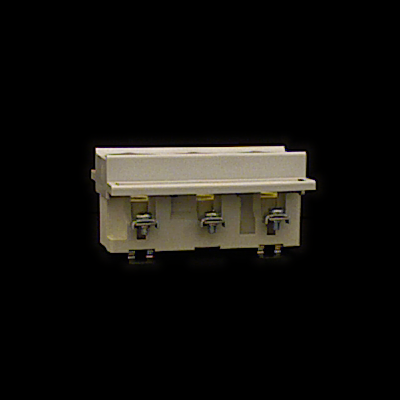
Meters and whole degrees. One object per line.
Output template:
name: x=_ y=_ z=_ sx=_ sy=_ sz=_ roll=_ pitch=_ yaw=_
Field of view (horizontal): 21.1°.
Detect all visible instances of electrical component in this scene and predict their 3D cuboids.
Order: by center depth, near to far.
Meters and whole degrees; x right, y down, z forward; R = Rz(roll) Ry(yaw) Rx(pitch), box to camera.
electrical component: x=0.000 y=0.000 z=0.658 sx=0.122 sy=0.063 sz=0.078 roll=-2 pitch=10 yaw=-14
